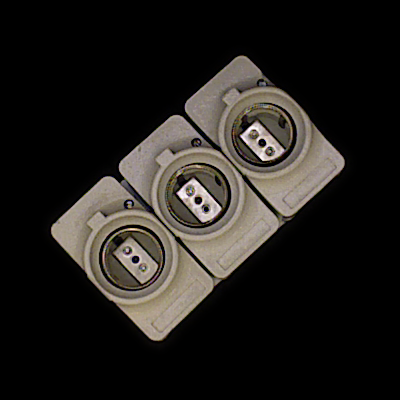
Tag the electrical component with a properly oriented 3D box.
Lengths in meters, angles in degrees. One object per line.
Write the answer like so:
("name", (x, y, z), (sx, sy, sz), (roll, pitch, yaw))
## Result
("electrical component", (0.000, 0.000, 0.632), (0.150, 0.089, 0.061), (-43, -5, -5))
